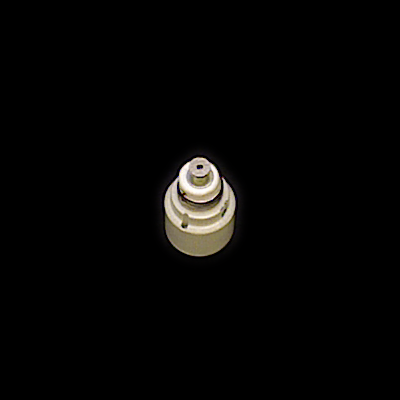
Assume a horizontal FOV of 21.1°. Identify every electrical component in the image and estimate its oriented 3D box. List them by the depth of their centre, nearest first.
[{"bbox_3d":[0.000,0.000,0.618,0.040,0.040,0.078,0,-28,0],"label":"electrical component"}]
